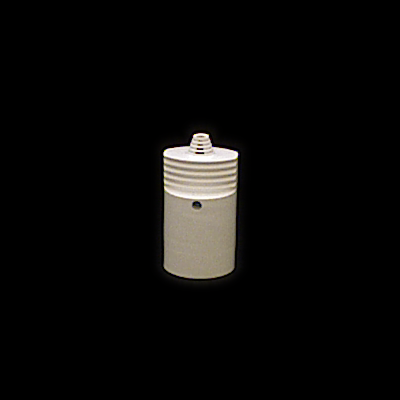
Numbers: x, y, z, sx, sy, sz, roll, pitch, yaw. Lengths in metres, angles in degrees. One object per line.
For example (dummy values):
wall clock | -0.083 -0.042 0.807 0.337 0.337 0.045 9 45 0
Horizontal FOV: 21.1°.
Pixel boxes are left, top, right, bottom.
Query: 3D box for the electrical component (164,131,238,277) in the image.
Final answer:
electrical component | 0.000 0.000 0.635 0.043 0.082 0.042 1 21 0
